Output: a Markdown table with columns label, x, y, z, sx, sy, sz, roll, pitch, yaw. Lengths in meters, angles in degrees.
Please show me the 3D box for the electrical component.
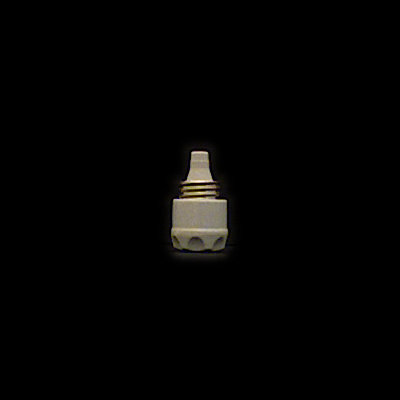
| label | x | y | z | sx | sy | sz | roll | pitch | yaw |
| --- | --- | --- | --- | --- | --- | --- | --- | --- | --- |
| electrical component | 0.000 | 0.000 | 0.662 | 0.035 | 0.061 | 0.035 | 0 | 3 | 0 |
